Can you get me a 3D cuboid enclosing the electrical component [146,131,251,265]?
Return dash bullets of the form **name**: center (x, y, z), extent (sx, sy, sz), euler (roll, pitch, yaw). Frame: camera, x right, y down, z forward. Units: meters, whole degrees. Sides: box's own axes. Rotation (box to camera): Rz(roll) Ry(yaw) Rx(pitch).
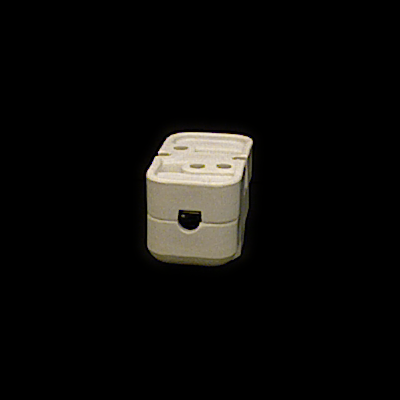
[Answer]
- **electrical component**: center (0.000, 0.000, 0.647), extent (0.053, 0.060, 0.094), euler (4, 21, 7)
